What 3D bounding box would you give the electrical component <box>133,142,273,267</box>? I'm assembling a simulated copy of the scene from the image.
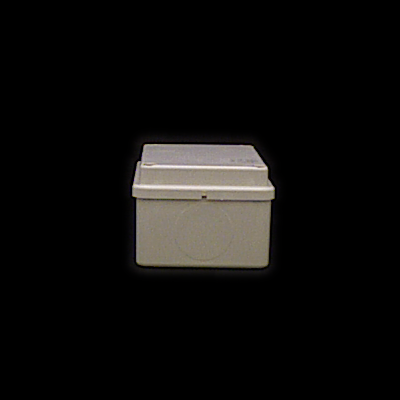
[{"bbox_3d":[0.000,0.000,0.644,0.078,0.057,0.112,1,10,-2],"label":"electrical component"}]
